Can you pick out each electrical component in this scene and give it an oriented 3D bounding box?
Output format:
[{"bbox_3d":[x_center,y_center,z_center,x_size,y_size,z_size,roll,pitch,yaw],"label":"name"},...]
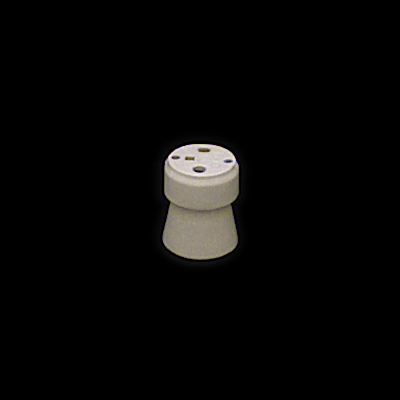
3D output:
[{"bbox_3d":[0.000,0.000,0.637,0.045,0.056,0.044,1,32,0],"label":"electrical component"}]
